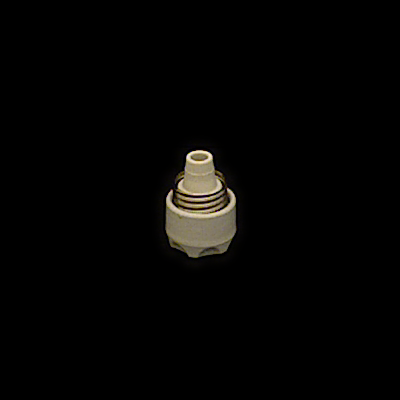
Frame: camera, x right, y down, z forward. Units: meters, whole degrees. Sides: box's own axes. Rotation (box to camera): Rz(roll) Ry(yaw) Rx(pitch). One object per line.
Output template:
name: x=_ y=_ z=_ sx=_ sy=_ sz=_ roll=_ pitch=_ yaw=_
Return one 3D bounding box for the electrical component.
electrical component: x=0.000 y=0.000 z=0.641 sx=0.043 sy=0.063 sz=0.043 roll=0 pitch=32 yaw=1
